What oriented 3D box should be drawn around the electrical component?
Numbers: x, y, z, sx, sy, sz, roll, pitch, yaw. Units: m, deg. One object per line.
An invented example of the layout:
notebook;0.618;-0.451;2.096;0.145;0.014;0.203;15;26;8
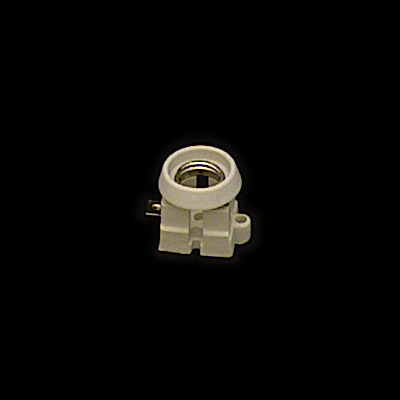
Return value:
electrical component;0.000;0.000;0.639;0.066;0.056;0.048;4;41;4
